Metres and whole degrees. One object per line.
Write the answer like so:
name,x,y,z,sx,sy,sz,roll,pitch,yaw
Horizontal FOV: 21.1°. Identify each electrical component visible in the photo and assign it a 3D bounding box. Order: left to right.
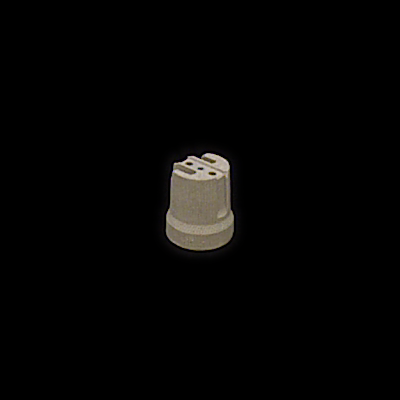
electrical component,0.000,0.000,0.639,0.040,0.046,0.040,1,32,-1
